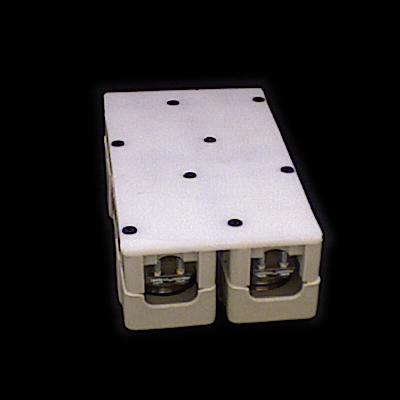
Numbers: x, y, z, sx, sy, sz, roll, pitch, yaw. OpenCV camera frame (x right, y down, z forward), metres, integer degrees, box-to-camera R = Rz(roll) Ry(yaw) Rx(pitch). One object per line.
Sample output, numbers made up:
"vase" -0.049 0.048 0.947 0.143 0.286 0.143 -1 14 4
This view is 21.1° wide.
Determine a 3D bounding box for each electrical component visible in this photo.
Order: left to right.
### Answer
"electrical component" 0.000 0.000 0.634 0.105 0.061 0.183 -3 32 -7
